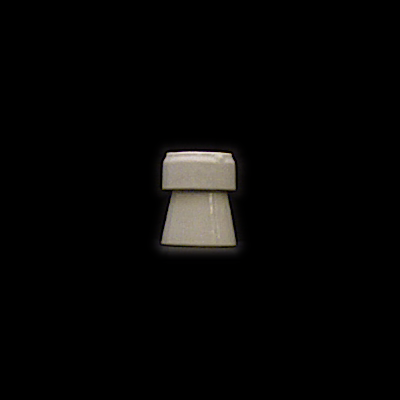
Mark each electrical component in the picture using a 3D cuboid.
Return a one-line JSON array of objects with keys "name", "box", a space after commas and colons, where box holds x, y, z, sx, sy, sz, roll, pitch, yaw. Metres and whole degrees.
[{"name": "electrical component", "box": [0.000, 0.000, 0.649, 0.045, 0.055, 0.045, 1, 1, 0]}]
